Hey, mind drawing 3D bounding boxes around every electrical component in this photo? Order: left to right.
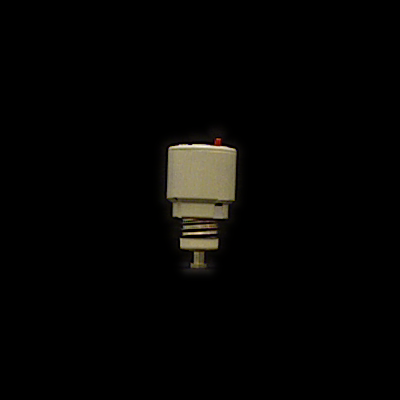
[{"bbox_3d":[0.000,0.000,0.647,0.040,0.078,0.040,2,1,0],"label":"electrical component"}]
